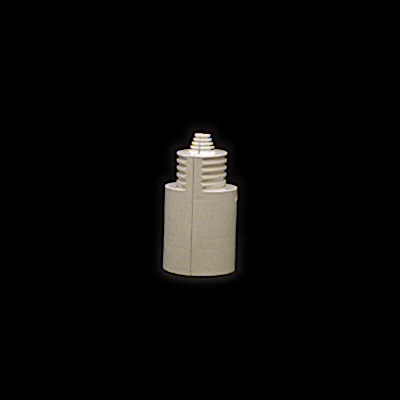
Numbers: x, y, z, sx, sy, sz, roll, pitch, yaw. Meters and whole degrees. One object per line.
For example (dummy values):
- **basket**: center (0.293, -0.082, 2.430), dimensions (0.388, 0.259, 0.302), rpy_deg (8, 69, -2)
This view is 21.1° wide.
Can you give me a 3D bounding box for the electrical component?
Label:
- **electrical component**: center (0.000, 0.000, 0.641), dimensions (0.043, 0.081, 0.043), rpy_deg (1, 11, 0)
